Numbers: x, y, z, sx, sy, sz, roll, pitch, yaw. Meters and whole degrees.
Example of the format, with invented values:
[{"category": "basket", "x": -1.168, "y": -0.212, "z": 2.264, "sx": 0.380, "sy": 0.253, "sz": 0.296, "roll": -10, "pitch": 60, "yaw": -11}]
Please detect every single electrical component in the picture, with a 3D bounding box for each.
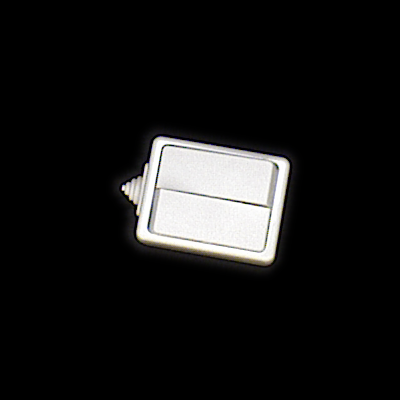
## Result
[{"category": "electrical component", "x": 0.000, "y": 0.000, "z": 0.627, "sx": 0.096, "sy": 0.062, "sz": 0.061, "roll": 10, "pitch": -7, "yaw": 2}]
